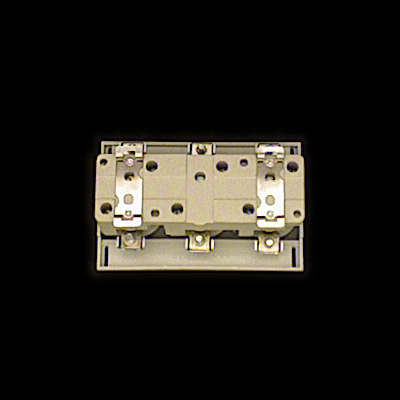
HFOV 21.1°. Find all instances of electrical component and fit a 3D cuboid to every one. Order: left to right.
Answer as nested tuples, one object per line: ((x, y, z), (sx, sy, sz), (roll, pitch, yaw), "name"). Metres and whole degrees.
((0.000, 0.000, 0.633), (0.121, 0.079, 0.062), (0, -15, 0), "electrical component")
